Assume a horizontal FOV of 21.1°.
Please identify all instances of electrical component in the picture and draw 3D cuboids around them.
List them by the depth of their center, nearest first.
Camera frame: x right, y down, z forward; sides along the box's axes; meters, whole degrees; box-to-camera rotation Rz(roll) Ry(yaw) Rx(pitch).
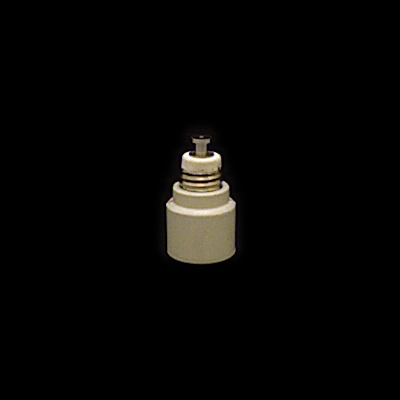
[{"bbox_3d":[0.000,0.000,0.635,0.040,0.079,0.039,0,22,0],"label":"electrical component"}]
